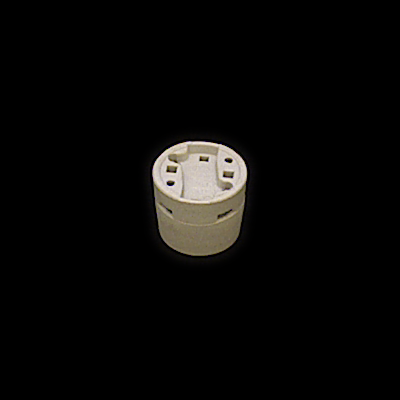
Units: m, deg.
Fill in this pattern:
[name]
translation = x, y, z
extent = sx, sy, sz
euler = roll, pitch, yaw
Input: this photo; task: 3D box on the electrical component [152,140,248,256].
[electrical component]
translation = 0.000, 0.000, 0.635
extent = 0.055, 0.047, 0.055
euler = 0, 42, 0
